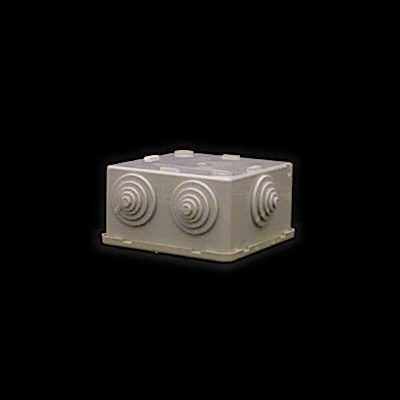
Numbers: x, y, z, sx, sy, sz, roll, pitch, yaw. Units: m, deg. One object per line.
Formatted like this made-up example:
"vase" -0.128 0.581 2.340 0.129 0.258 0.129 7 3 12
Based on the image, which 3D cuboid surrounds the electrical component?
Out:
"electrical component" 0.000 0.000 0.645 0.099 0.049 0.099 7 12 30
